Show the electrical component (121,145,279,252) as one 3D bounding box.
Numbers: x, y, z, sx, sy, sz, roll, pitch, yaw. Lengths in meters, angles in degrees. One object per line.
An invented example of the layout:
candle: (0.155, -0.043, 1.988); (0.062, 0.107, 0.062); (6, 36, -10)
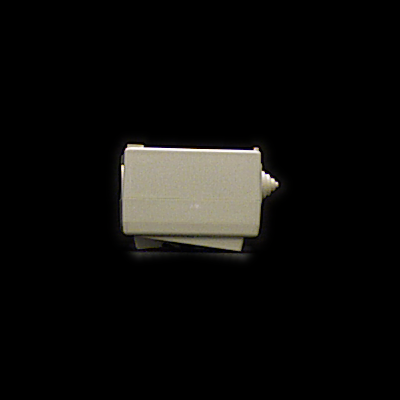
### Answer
electrical component: (0.000, 0.000, 0.653); (0.096, 0.061, 0.062); (1, 0, -6)
